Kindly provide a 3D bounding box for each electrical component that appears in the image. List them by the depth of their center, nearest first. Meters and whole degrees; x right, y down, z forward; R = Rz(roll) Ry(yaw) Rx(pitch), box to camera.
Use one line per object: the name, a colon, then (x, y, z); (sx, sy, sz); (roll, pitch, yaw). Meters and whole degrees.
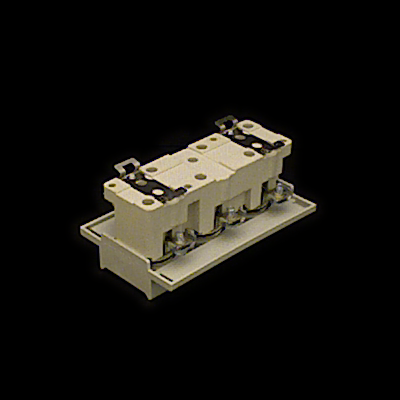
electrical component: (0.000, 0.000, 0.640); (0.121, 0.064, 0.077); (-27, 42, -37)
